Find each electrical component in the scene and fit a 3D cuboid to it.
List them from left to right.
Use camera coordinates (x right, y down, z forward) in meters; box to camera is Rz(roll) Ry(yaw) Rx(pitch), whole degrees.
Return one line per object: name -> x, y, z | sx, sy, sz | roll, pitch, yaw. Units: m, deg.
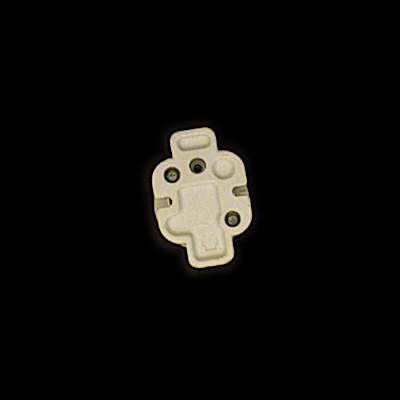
electrical component -> 0.000, 0.000, 0.637 | 0.058, 0.078, 0.056 | -10, -4, -1
